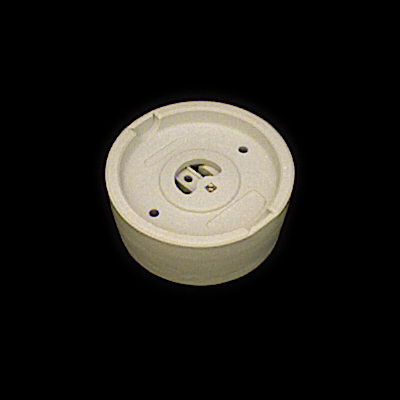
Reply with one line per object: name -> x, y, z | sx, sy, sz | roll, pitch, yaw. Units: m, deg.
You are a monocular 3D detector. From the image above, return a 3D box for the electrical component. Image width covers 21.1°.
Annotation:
electrical component -> 0.000, 0.000, 0.635 | 0.108, 0.107, 0.060 | 0, -37, 0
